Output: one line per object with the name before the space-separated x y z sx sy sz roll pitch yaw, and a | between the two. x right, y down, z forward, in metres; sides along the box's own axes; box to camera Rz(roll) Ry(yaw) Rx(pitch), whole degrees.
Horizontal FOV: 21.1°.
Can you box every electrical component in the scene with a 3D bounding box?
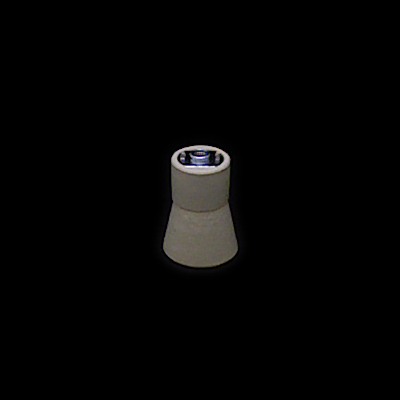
electrical component | 0.000 0.000 0.635 0.044 0.066 0.044 1 30 0
